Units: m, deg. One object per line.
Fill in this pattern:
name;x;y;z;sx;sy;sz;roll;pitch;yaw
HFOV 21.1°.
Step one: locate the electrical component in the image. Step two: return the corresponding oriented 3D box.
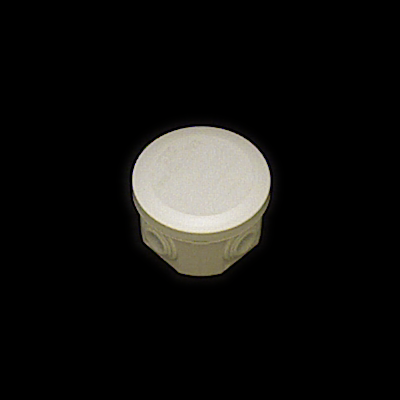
electrical component;0.000;0.000;0.633;0.080;0.080;0.051;0;-38;-1
